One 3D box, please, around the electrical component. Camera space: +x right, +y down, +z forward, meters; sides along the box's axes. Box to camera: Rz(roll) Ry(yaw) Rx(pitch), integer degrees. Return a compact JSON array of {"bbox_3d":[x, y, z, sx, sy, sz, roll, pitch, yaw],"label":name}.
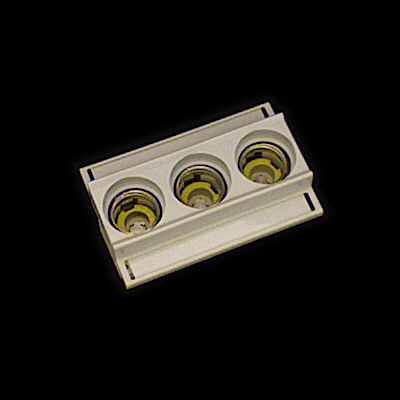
[{"bbox_3d":[0.000,0.000,0.637,0.121,0.078,0.063,-20,-23,-10],"label":"electrical component"}]
